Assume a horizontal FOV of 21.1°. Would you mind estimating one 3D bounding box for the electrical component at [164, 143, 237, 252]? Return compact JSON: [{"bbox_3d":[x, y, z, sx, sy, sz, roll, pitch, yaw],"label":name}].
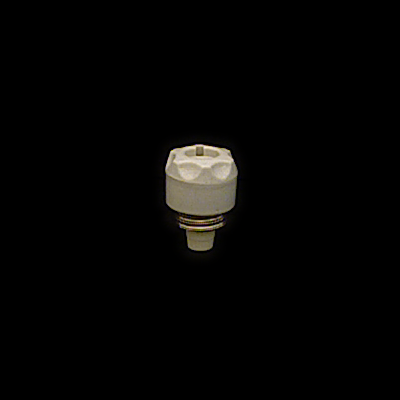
[{"bbox_3d":[0.000,0.000,0.645,0.043,0.063,0.043,1,23,0],"label":"electrical component"}]
